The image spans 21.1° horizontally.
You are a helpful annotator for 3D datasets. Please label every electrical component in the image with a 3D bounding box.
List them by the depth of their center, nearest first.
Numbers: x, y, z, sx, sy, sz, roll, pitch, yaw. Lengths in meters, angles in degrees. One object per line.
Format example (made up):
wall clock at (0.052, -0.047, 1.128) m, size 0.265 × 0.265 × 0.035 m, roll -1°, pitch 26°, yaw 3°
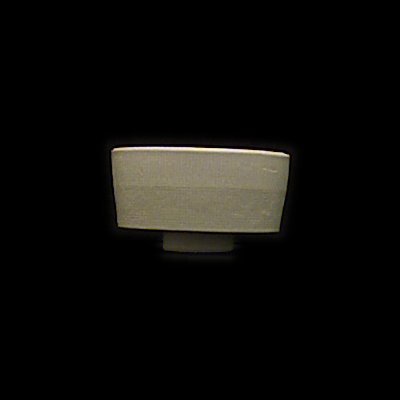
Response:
electrical component at (0.000, 0.000, 0.654) m, size 0.108 × 0.060 × 0.108 m, roll 2°, pitch 1°, yaw 1°
